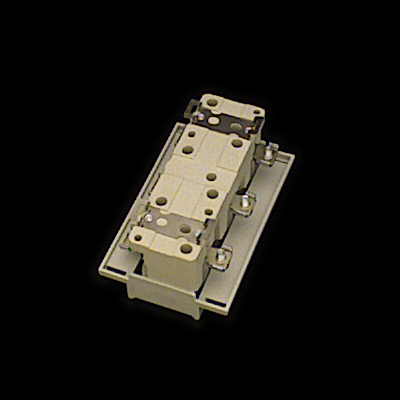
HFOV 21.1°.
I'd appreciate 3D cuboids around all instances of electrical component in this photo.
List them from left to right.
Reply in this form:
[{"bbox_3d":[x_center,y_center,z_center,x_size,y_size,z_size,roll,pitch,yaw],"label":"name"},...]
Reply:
[{"bbox_3d":[0.000,0.000,0.635,0.078,0.121,0.063,17,-35,13],"label":"electrical component"}]
